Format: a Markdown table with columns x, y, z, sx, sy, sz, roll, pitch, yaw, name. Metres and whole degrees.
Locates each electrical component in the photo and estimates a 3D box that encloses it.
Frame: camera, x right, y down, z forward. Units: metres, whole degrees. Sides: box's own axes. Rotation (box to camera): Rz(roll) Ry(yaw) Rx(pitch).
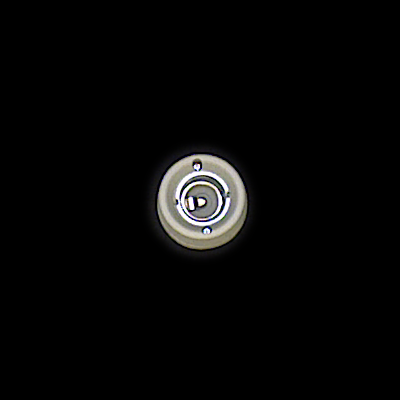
| x | y | z | sx | sy | sz | roll | pitch | yaw | name |
| --- | --- | --- | --- | --- | --- | --- | --- | --- | --- |
| 0.000 | 0.000 | 0.634 | 0.055 | 0.055 | 0.047 | 0 | -8 | 0 | electrical component |
